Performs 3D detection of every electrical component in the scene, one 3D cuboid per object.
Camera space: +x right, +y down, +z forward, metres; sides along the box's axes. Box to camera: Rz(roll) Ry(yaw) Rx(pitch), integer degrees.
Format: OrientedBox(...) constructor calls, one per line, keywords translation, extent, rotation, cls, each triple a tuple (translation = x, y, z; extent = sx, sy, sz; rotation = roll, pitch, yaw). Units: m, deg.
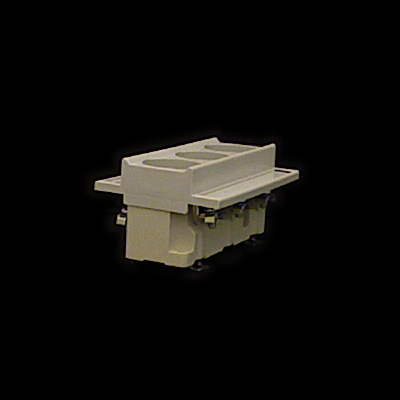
OrientedBox(translation=(0.000, 0.000, 0.657), extent=(0.078, 0.063, 0.121), rotation=(8, 13, 25), cls="electrical component")
